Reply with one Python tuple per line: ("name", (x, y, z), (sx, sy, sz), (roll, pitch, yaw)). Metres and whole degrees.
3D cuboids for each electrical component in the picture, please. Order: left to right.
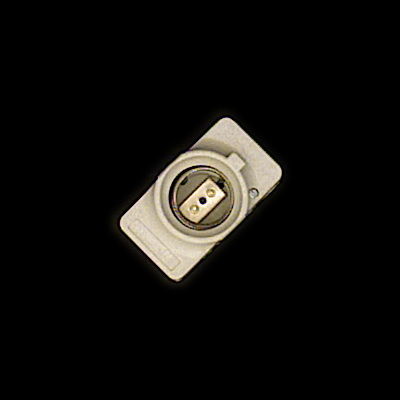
("electrical component", (0.000, 0.000, 0.637), (0.050, 0.090, 0.055), (44, -4, 4))
